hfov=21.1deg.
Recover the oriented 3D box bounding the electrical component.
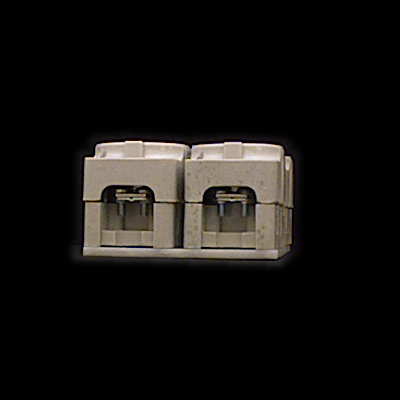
[{"bbox_3d":[0.000,0.000,0.649,0.105,0.060,0.186,1,0,7],"label":"electrical component"}]
